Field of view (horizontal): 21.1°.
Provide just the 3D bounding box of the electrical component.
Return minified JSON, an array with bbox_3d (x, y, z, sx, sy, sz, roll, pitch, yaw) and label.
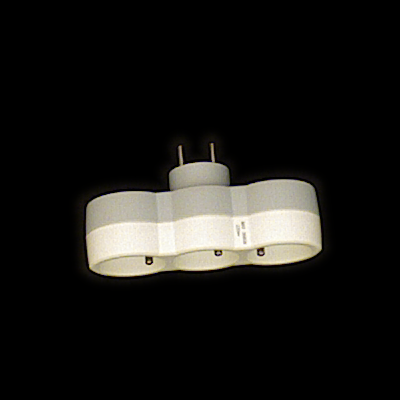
[{"bbox_3d":[0.000,0.000,0.639,0.138,0.074,0.052,-4,-18,-1],"label":"electrical component"}]
